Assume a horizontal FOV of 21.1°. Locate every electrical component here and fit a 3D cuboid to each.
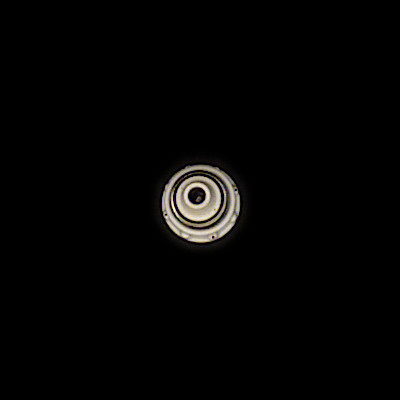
[{"bbox_3d":[0.000,0.000,0.635,0.048,0.048,0.062,0,-6,2],"label":"electrical component"}]
